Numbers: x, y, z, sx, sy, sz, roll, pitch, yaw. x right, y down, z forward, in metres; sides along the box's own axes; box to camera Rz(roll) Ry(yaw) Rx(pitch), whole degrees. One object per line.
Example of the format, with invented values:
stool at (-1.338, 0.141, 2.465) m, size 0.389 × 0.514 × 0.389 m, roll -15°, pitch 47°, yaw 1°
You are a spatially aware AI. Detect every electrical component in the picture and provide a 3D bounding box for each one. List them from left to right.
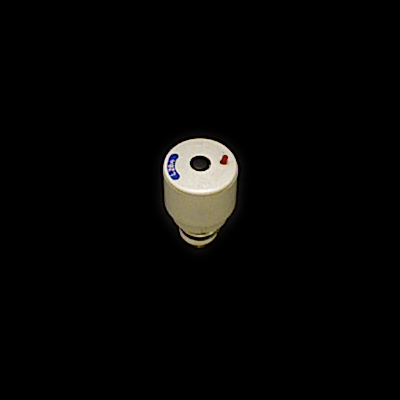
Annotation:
electrical component at (0.000, 0.000, 0.620) m, size 0.040 × 0.040 × 0.079 m, roll 0°, pitch -38°, yaw -1°
